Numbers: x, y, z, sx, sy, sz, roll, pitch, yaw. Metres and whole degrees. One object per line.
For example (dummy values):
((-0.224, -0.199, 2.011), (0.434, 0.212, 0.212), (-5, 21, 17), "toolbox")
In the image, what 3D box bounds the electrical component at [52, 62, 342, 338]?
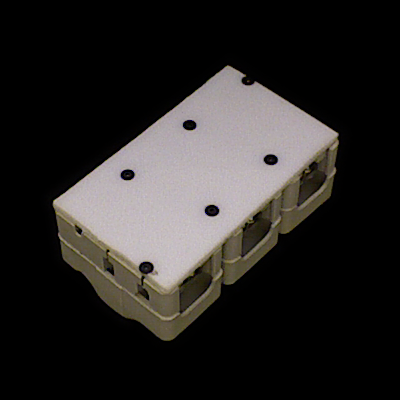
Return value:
((0.000, 0.000, 0.635), (0.089, 0.063, 0.149), (36, 60, 24), "electrical component")
